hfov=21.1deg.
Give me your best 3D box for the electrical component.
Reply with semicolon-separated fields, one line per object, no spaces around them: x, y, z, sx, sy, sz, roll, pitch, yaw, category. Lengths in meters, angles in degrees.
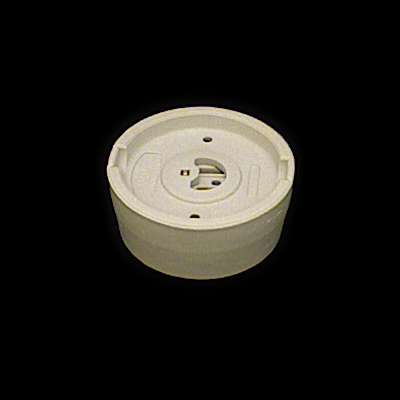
0.000;0.000;0.636;0.108;0.061;0.107;1;43;0;electrical component
